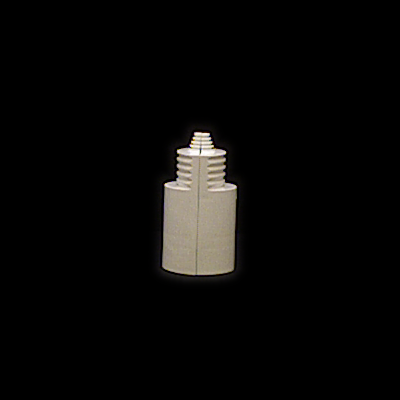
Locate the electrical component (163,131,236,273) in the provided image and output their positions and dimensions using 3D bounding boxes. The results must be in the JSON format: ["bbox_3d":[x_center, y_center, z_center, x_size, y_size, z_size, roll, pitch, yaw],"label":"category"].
[{"bbox_3d":[0.000,0.000,0.641,0.043,0.081,0.043,1,11,0],"label":"electrical component"}]
